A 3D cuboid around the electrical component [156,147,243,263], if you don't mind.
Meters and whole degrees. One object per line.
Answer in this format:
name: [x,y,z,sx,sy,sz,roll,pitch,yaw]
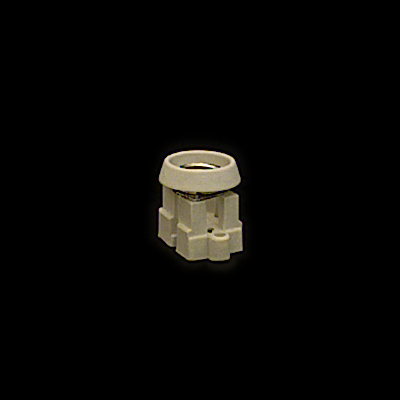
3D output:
electrical component: [0.000,0.000,0.647,0.049,0.056,0.065,-9,24,-28]
